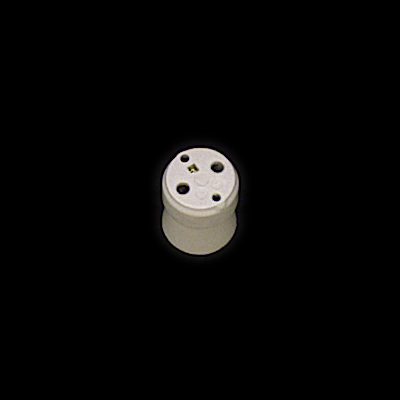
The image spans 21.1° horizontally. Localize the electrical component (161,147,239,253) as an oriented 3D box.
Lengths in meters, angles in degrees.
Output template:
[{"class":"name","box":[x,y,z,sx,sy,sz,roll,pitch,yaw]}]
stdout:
[{"class":"electrical component","box":[0.000,0.000,0.629,0.045,0.045,0.055,0,-27,-1]}]
